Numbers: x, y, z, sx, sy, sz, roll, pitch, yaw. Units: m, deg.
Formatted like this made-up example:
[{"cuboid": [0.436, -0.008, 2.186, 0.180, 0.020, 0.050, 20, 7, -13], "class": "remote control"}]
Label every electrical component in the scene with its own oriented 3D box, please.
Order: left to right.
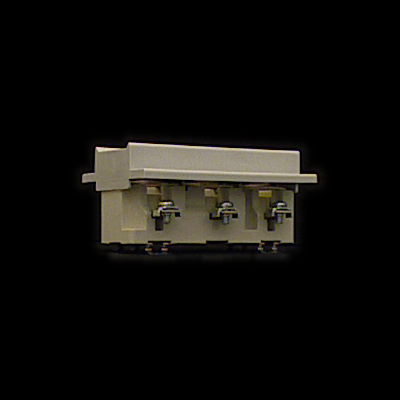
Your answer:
[{"cuboid": [0.000, 0.000, 0.663, 0.122, 0.063, 0.078, 1, -1, -32], "class": "electrical component"}]
